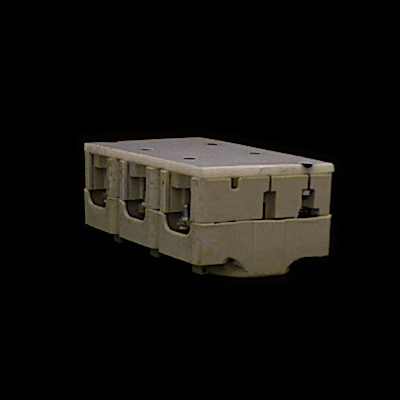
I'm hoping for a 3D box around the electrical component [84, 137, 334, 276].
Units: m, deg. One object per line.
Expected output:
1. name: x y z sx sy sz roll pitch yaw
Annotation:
1. electrical component: 0.000 0.000 0.652 0.090 0.062 0.148 -4 11 -30
